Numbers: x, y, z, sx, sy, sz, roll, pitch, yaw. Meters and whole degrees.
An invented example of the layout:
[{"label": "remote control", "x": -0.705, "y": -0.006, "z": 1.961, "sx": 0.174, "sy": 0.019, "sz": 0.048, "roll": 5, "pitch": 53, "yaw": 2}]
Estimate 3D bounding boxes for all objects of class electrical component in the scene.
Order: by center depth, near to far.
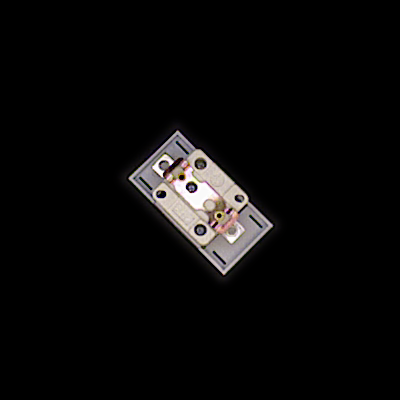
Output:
[{"label": "electrical component", "x": 0.000, "y": 0.000, "z": 0.626, "sx": 0.081, "sy": 0.042, "sz": 0.063, "roll": 45, "pitch": -4, "yaw": 5}]
